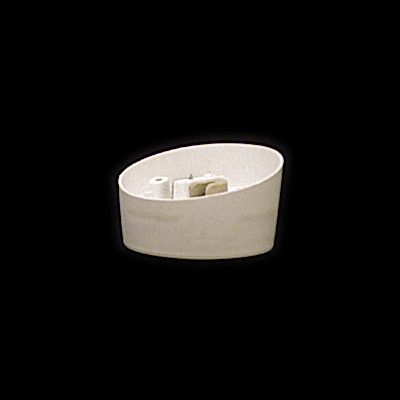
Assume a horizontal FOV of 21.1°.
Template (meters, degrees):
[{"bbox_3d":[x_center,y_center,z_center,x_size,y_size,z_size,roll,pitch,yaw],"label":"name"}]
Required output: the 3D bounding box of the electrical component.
[{"bbox_3d":[0.000,0.000,0.645,0.099,0.064,0.098,1,9,0],"label":"electrical component"}]
